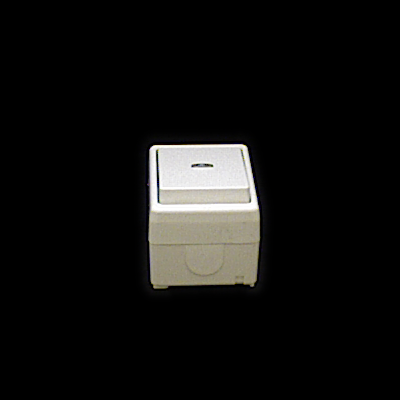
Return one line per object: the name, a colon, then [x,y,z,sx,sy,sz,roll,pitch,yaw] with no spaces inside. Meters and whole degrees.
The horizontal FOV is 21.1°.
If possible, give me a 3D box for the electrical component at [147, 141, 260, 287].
electrical component: [0.000,0.000,0.636,0.062,0.062,0.095,-1,31,-3]
